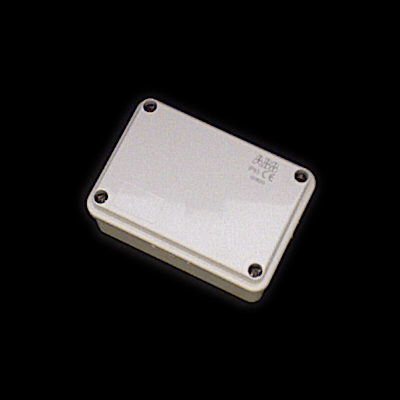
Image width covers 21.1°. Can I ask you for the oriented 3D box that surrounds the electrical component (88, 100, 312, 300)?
[{"bbox_3d":[0.000,0.000,0.628,0.113,0.078,0.057,25,-15,8],"label":"electrical component"}]
